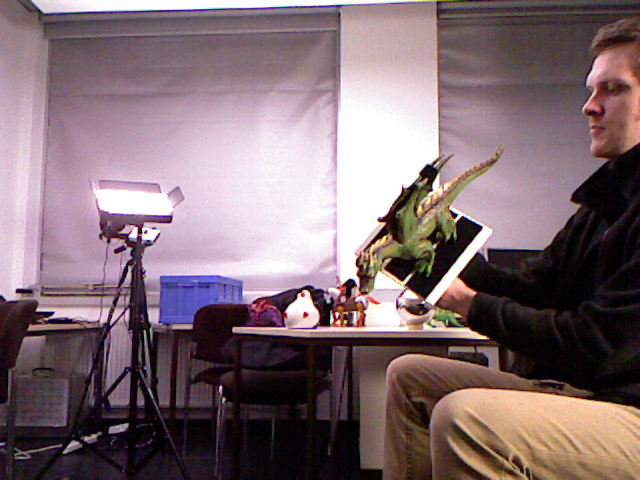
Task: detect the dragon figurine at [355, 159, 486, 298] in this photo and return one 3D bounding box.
[{"bbox_3d":[0.197,-0.056,0.973,0.123,0.415,0.239,35,-12,20],"label":"dragon figurine"}]
